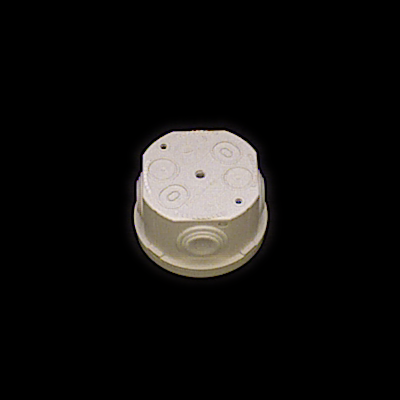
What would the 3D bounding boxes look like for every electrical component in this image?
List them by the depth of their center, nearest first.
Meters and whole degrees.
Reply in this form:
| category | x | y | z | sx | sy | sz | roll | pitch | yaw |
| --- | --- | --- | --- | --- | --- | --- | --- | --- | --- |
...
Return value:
| category | x | y | z | sx | sy | sz | roll | pitch | yaw |
| --- | --- | --- | --- | --- | --- | --- | --- | --- | --- |
| electrical component | 0.000 | 0.000 | 0.633 | 0.080 | 0.080 | 0.051 | 0 | -38 | 0 |
